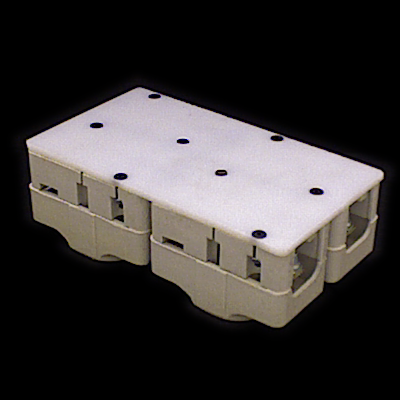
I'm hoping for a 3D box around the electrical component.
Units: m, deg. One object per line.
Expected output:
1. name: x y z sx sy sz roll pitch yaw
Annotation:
1. electrical component: 0.000 0.000 0.633 0.185 0.061 0.105 22 37 31
